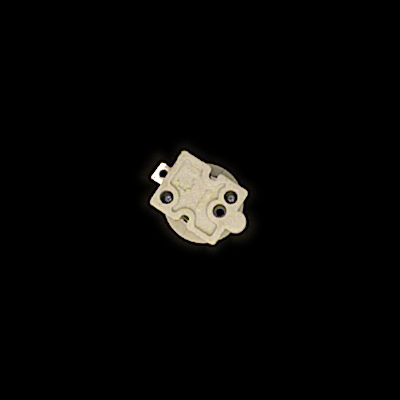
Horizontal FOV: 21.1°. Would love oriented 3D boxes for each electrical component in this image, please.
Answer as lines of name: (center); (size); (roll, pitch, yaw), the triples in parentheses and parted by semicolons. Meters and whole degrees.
electrical component: (0.000, 0.000, 0.639); (0.066, 0.048, 0.055); (34, -3, 5)
